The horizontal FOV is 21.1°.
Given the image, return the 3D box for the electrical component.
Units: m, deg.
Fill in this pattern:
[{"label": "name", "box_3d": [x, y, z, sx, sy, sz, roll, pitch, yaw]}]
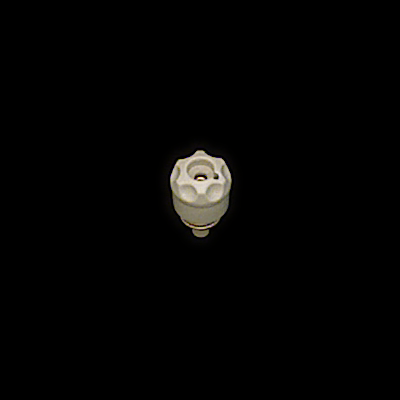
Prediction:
[{"label": "electrical component", "box_3d": [0.000, 0.000, 0.634, 0.035, 0.035, 0.061, 0, -37, 0]}]
